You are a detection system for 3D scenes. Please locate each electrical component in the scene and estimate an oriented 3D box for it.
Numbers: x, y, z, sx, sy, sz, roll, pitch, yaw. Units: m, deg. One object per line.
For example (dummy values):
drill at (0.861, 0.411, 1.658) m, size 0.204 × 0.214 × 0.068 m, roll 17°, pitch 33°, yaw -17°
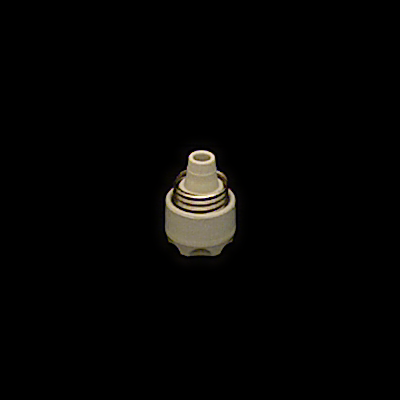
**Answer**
electrical component at (0.000, 0.000, 0.640) m, size 0.043 × 0.063 × 0.043 m, roll 1°, pitch 34°, yaw 0°
